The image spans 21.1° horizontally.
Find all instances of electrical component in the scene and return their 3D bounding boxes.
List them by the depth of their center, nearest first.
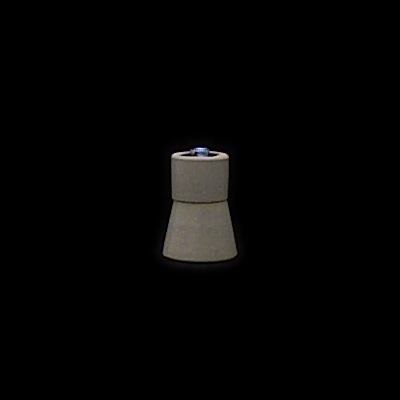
[{"bbox_3d":[0.000,0.000,0.645,0.044,0.066,0.044,0,11,0],"label":"electrical component"}]
